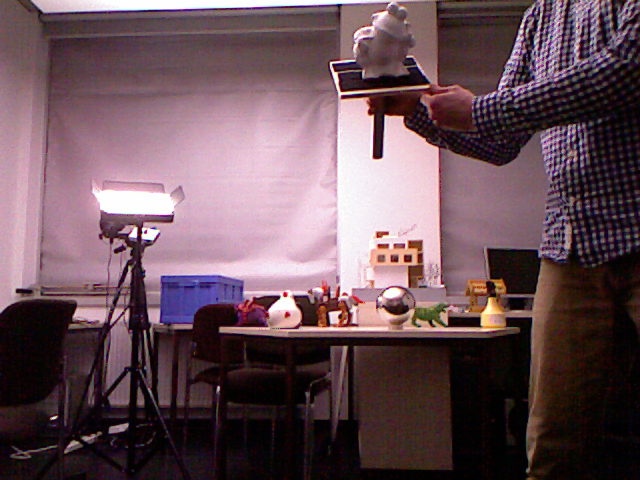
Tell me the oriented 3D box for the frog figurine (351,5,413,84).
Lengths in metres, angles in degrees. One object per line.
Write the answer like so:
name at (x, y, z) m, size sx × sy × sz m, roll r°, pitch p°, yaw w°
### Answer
frog figurine at (0.138, -0.443, 1.154) m, size 0.138 × 0.156 × 0.126 m, roll 3°, pitch 32°, yaw 9°
